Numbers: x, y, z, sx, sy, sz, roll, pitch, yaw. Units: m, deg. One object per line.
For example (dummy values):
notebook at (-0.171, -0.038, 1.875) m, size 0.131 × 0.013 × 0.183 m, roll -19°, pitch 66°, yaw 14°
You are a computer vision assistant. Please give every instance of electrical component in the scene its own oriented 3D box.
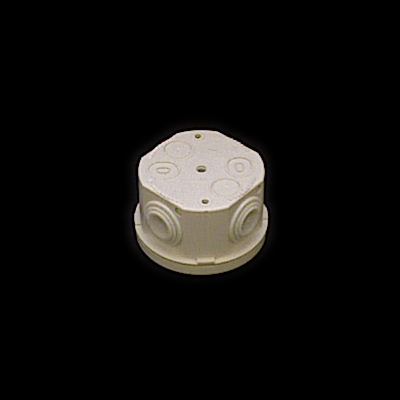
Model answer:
electrical component at (0.000, 0.000, 0.635) m, size 0.080 × 0.051 × 0.079 m, roll 0°, pitch 42°, yaw 0°
